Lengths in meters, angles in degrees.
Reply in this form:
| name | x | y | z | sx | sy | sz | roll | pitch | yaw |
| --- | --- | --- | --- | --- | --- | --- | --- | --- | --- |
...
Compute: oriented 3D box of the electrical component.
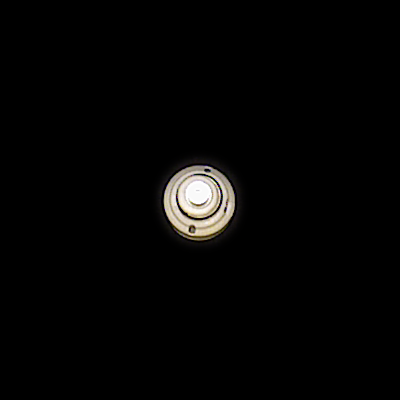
| name | x | y | z | sx | sy | sz | roll | pitch | yaw |
| --- | --- | --- | --- | --- | --- | --- | --- | --- | --- |
| electrical component | 0.000 | 0.000 | 0.618 | 0.040 | 0.040 | 0.078 | 0 | -7 | 0 |
